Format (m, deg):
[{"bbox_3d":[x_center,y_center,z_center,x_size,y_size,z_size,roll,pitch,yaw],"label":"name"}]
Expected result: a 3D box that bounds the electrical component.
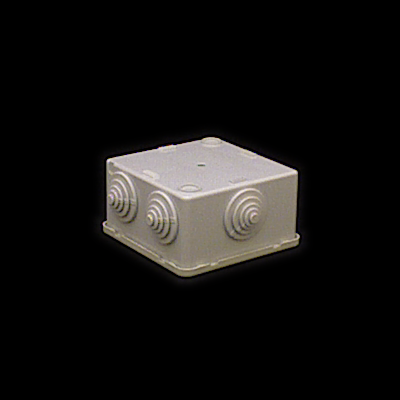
[{"bbox_3d":[0.000,0.000,0.641,0.100,0.049,0.098,-14,25,-35],"label":"electrical component"}]
